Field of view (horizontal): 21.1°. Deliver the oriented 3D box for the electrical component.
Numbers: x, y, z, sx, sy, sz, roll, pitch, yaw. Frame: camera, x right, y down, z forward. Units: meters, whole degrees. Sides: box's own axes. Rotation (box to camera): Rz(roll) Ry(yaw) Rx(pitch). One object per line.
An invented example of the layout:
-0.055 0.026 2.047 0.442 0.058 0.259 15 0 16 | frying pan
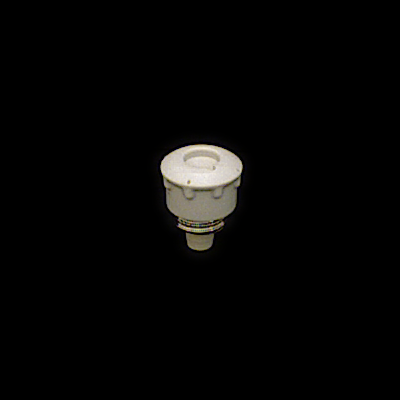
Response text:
0.000 0.000 0.642 0.048 0.063 0.047 1 32 0 | electrical component
